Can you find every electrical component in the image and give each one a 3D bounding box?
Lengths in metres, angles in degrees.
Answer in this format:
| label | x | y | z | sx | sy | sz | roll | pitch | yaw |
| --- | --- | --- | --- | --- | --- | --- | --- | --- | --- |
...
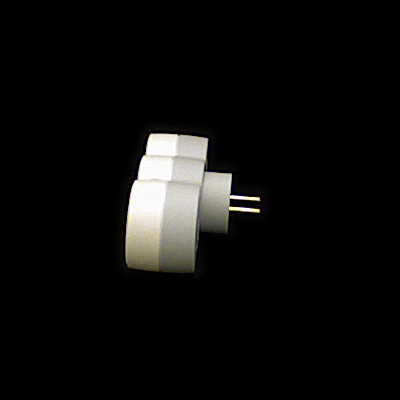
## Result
| label | x | y | z | sx | sy | sz | roll | pitch | yaw |
| --- | --- | --- | --- | --- | --- | --- | --- | --- | --- |
| electrical component | 0.000 | 0.000 | 0.646 | 0.074 | 0.053 | 0.136 | 4 | 21 | 2 |
